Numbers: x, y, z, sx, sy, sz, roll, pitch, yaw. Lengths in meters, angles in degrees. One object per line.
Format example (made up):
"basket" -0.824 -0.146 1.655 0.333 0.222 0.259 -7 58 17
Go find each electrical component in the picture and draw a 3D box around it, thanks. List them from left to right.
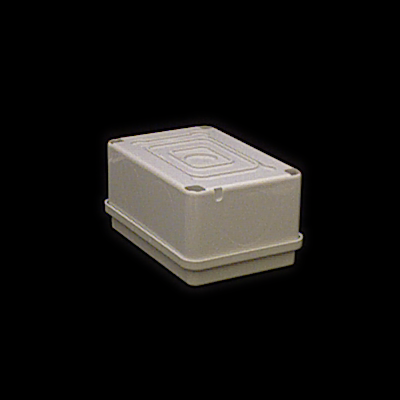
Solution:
"electrical component" 0.000 0.000 0.639 0.078 0.058 0.111 -11 23 -28
